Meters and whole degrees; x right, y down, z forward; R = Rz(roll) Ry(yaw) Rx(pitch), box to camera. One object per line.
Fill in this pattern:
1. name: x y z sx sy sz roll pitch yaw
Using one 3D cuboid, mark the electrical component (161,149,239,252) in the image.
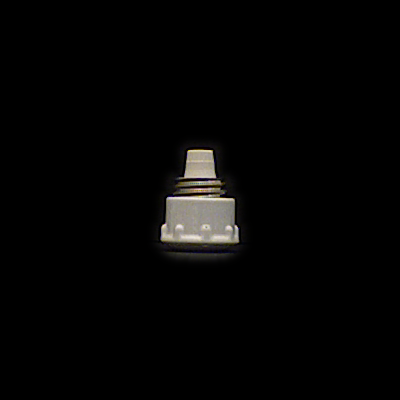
1. electrical component: 0.000 0.000 0.656 0.048 0.062 0.048 0 1 1
